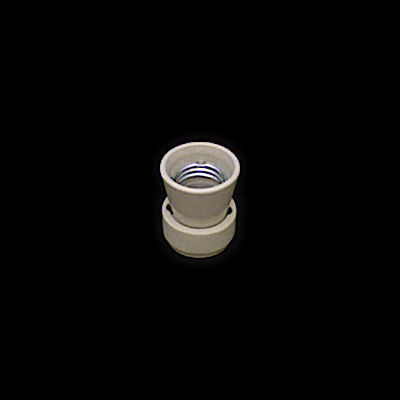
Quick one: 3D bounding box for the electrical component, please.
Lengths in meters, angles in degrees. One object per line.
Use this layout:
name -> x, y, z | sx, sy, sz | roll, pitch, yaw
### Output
electrical component -> 0.000, 0.000, 0.631 | 0.045, 0.055, 0.044 | 0, 43, 0
